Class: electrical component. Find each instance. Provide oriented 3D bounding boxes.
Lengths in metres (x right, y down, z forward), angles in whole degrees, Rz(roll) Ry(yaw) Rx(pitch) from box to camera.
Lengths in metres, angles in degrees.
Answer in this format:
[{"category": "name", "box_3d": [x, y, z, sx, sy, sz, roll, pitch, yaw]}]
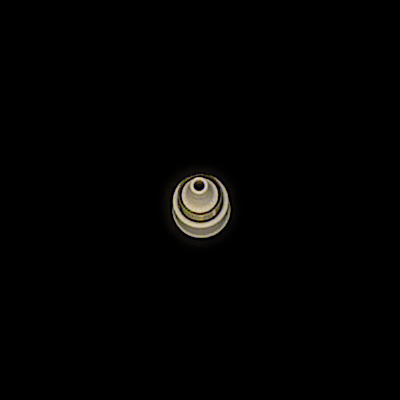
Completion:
[{"category": "electrical component", "box_3d": [0.000, 0.000, 0.636, 0.035, 0.035, 0.061, 0, -18, 2]}]
